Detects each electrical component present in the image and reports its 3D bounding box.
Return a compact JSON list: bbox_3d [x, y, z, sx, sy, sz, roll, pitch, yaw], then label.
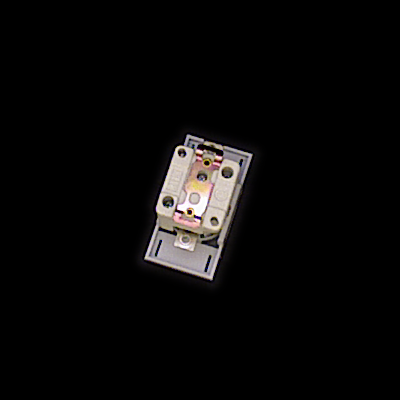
[{"bbox_3d":[0.000,0.000,0.625,0.042,0.081,0.063,16,-16,5],"label":"electrical component"}]
